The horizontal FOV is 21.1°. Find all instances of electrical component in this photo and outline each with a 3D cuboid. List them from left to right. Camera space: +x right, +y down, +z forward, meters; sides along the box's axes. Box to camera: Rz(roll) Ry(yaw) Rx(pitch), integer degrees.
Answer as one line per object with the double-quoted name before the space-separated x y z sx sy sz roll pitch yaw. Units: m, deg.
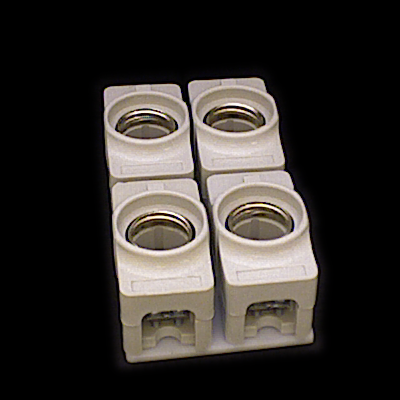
"electrical component" 0.000 0.000 0.630 0.106 0.061 0.184 -4 42 -6
